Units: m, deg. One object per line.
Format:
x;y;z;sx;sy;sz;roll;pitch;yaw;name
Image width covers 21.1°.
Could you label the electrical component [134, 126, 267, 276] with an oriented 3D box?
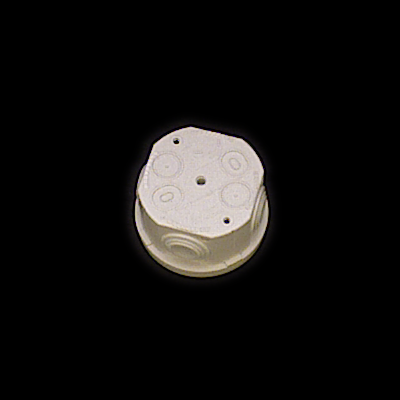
0.000;0.000;0.632;0.080;0.080;0.050;0;-28;0;electrical component
